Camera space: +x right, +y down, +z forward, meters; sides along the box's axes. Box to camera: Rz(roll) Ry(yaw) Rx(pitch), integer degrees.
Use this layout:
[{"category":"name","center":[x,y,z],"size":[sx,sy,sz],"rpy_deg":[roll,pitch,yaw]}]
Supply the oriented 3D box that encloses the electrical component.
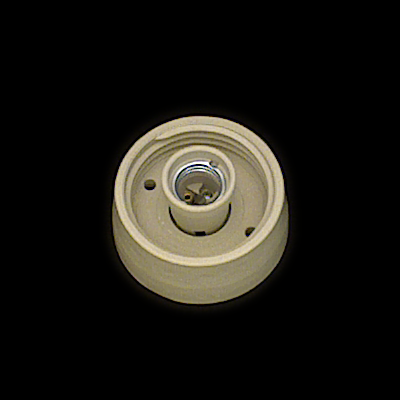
[{"category":"electrical component","center":[0.000,0.000,0.634],"size":[0.108,0.108,0.060],"rpy_deg":[0,-27,0]}]
